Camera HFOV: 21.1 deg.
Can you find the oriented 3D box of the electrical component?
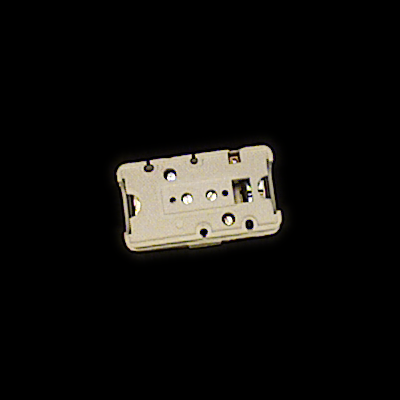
[{"bbox_3d":[0.000,0.000,0.637,0.090,0.050,0.055,-8,-6,-1],"label":"electrical component"}]
